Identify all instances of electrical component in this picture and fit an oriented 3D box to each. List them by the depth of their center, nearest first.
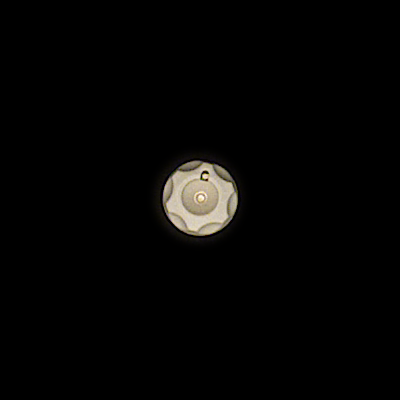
[{"bbox_3d":[0.000,0.000,0.635,0.043,0.043,0.062,0,-4,1],"label":"electrical component"}]
